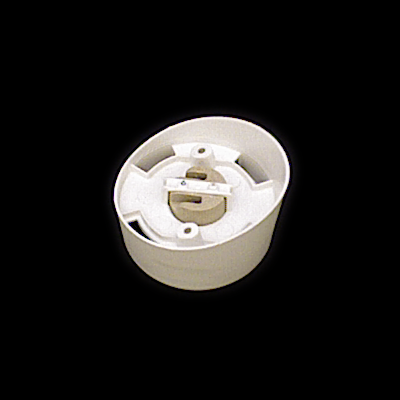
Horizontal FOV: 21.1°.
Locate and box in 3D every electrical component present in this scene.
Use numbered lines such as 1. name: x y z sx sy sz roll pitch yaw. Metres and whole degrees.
1. electrical component: 0.000 0.000 0.626 0.099 0.098 0.064 0 -38 -2
